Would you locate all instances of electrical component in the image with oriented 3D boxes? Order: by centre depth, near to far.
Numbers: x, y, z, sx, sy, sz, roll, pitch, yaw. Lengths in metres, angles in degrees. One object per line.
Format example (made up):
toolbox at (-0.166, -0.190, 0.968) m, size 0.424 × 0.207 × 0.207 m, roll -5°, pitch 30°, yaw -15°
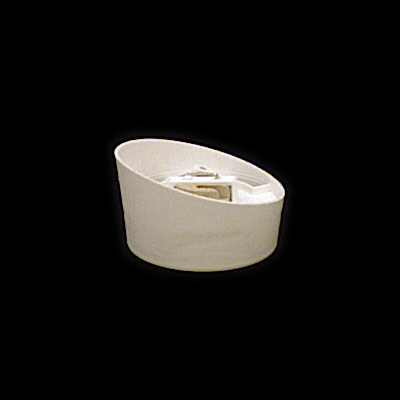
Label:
electrical component at (0.000, 0.000, 0.637) m, size 0.099 × 0.065 × 0.097 m, roll 0°, pitch 21°, yaw 0°
